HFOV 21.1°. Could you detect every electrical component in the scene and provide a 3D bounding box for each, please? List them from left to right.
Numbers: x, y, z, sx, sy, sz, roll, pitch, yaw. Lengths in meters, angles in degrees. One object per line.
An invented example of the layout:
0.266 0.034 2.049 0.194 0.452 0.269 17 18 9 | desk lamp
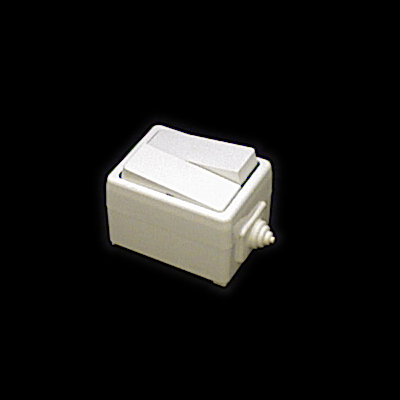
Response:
0.000 0.000 0.630 0.096 0.061 0.061 20 45 20 | electrical component
